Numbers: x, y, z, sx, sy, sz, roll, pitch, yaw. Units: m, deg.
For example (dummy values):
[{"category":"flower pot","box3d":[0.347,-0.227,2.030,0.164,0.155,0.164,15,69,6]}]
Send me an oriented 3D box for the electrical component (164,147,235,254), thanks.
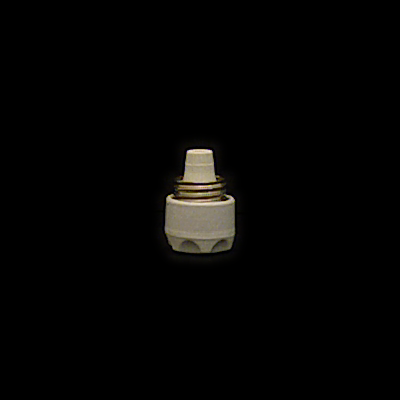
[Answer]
[{"category":"electrical component","box3d":[0.000,0.000,0.651,0.043,0.062,0.043,0,11,1]}]
